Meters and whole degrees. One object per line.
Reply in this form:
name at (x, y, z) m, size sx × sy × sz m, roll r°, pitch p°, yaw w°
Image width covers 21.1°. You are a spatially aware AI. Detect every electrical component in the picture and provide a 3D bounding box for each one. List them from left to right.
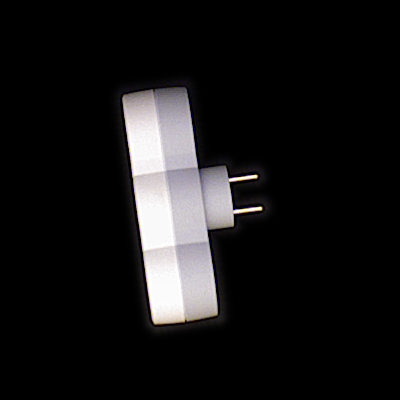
electrical component at (0.000, 0.000, 0.632) m, size 0.074 × 0.138 × 0.052 m, roll -8°, pitch -8°, yaw -3°
